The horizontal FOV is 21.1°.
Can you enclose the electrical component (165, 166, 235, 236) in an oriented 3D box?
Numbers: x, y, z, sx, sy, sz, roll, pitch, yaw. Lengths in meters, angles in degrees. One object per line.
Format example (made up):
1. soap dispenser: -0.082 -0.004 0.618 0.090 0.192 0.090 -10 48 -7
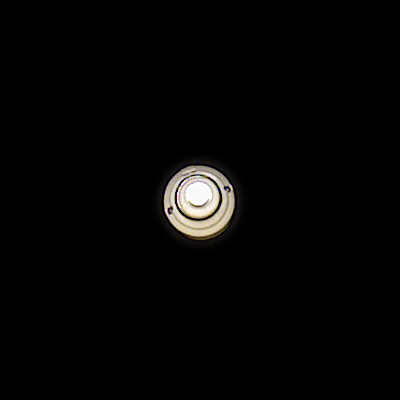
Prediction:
1. electrical component: 0.000 0.000 0.618 0.040 0.040 0.078 0 -5 1
